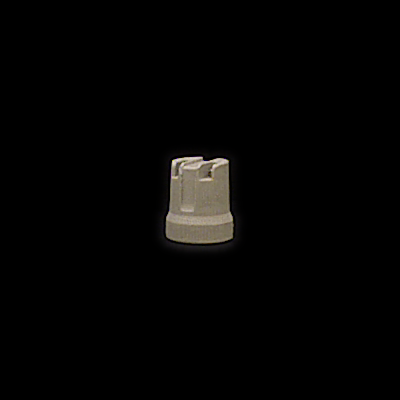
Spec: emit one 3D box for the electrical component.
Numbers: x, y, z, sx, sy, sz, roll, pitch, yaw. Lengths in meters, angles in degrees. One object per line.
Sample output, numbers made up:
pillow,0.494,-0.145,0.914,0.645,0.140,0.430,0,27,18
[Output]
electrical component,0.000,0.000,0.645,0.040,0.046,0.040,1,11,0
